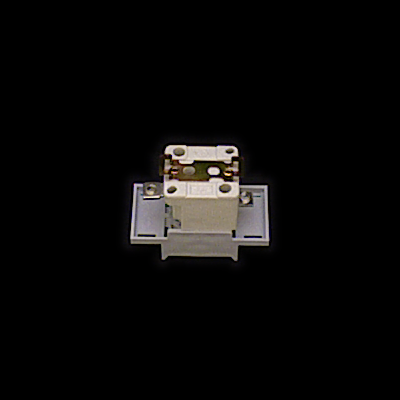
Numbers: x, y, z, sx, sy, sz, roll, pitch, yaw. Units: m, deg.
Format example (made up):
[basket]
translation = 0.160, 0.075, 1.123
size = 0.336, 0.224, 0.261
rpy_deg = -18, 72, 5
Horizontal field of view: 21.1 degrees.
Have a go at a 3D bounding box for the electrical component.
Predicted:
[electrical component]
translation = 0.000, 0.000, 0.628
size = 0.081, 0.042, 0.064
rpy_deg = 0, -38, 0
